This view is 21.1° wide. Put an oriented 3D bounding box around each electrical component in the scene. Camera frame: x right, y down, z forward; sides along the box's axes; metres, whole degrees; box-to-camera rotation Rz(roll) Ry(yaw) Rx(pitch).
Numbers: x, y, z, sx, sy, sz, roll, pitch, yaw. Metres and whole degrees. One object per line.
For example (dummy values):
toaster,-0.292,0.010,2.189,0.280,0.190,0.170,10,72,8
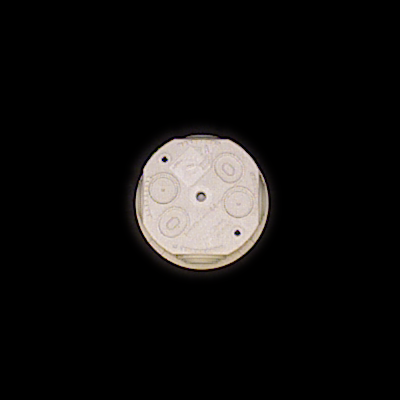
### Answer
electrical component,0.000,0.000,0.634,0.080,0.080,0.050,0,-7,1
